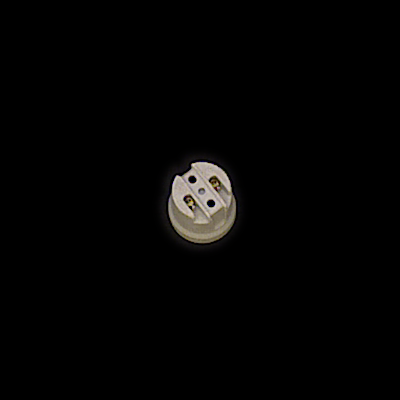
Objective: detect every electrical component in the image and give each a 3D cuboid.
[{"bbox_3d":[0.000,0.000,0.633,0.040,0.040,0.046,0,-17,1],"label":"electrical component"}]
